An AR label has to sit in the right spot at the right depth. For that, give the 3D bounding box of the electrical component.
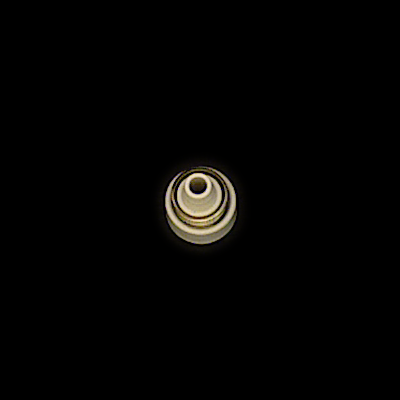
[{"bbox_3d":[0.000,0.000,0.634,0.043,0.043,0.061,0,-17,1],"label":"electrical component"}]
